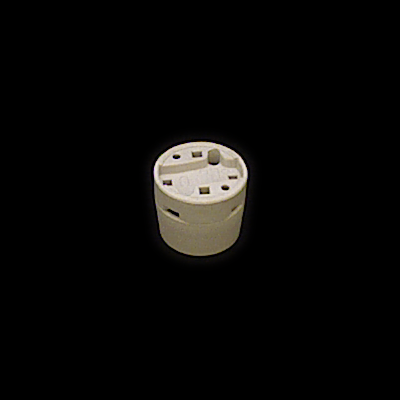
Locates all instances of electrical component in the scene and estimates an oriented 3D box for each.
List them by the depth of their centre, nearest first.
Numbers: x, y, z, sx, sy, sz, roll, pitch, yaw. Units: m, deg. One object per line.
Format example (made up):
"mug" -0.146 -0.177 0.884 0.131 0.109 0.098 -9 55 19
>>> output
"electrical component" 0.000 0.000 0.637 0.055 0.047 0.055 0 42 0
